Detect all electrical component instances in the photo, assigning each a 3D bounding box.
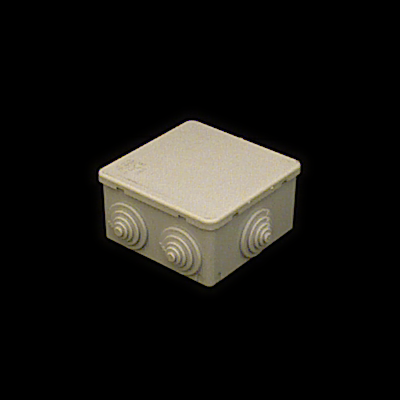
[{"bbox_3d":[0.000,0.000,0.643,0.098,0.049,0.100,24,39,32],"label":"electrical component"}]
